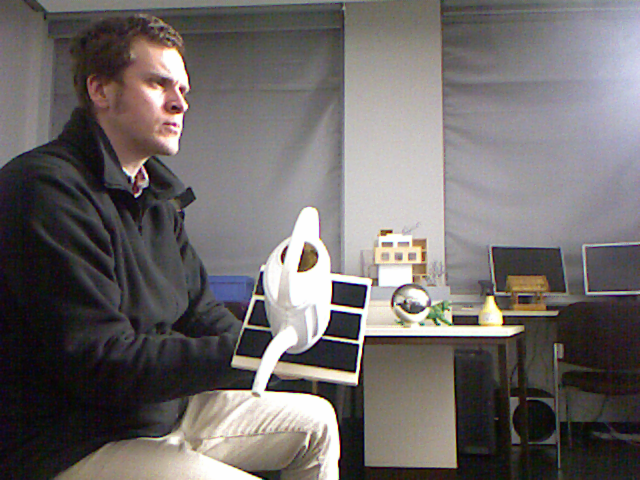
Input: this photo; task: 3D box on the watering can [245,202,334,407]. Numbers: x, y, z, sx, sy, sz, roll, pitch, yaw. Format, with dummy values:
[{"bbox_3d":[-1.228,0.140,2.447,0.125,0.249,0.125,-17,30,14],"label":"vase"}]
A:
[{"bbox_3d":[-0.044,0.107,0.778,0.104,0.357,0.220,8,-37,10],"label":"watering can"}]
